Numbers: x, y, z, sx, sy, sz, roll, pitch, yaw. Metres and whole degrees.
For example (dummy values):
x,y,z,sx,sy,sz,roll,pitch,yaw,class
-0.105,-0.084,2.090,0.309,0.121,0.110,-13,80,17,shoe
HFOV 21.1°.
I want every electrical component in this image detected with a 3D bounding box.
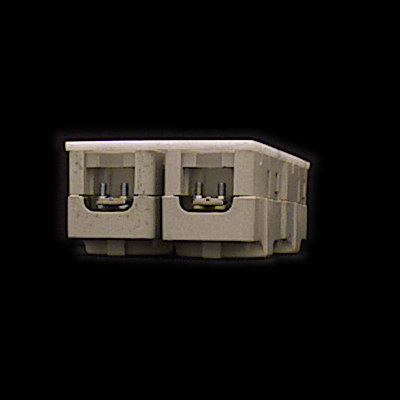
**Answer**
x,y,z,sx,sy,sz,roll,pitch,yaw,class
0.000,0.000,0.649,0.105,0.060,0.186,1,-1,15,electrical component
